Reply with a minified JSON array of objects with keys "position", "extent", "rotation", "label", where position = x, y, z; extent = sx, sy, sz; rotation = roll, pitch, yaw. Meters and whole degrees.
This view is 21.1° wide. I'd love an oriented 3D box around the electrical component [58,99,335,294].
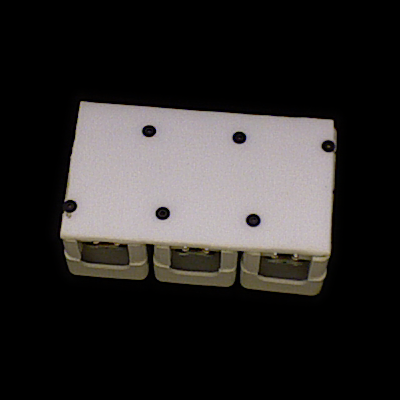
[{"position":[0.000,0.000,0.632],"extent":[0.150,0.089,0.062],"rotation":[5,-27,2],"label":"electrical component"}]
